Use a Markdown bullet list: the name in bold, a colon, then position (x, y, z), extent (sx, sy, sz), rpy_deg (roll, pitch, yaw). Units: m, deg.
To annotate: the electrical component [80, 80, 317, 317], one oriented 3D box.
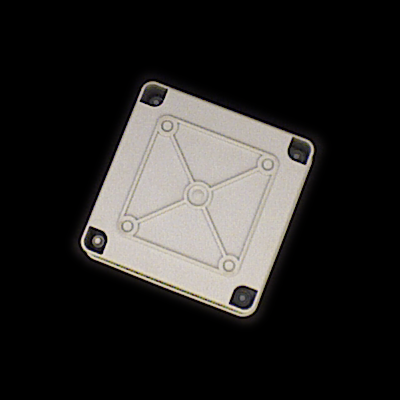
- **electrical component**: position (0.000, 0.000, 0.628), extent (0.109, 0.109, 0.056), rpy_deg (21, -6, 3)
